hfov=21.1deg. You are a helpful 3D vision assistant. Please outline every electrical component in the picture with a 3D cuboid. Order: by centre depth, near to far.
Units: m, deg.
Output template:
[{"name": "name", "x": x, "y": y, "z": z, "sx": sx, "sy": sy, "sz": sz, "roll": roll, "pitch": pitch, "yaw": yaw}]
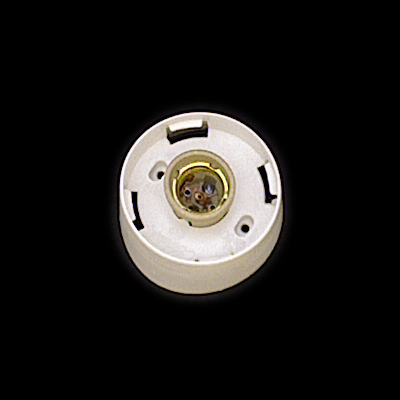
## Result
[{"name": "electrical component", "x": 0.000, "y": 0.000, "z": 0.625, "sx": 0.099, "sy": 0.099, "sz": 0.064, "roll": 0, "pitch": -17, "yaw": 0}]
